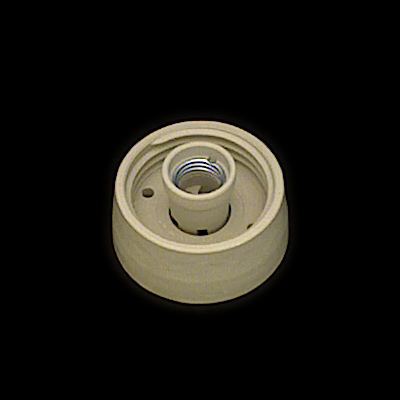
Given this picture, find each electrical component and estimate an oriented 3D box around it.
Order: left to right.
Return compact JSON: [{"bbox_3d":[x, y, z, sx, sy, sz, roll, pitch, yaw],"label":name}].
[{"bbox_3d":[0.000,0.000,0.636,0.108,0.107,0.060,0,-37,0],"label":"electrical component"}]
